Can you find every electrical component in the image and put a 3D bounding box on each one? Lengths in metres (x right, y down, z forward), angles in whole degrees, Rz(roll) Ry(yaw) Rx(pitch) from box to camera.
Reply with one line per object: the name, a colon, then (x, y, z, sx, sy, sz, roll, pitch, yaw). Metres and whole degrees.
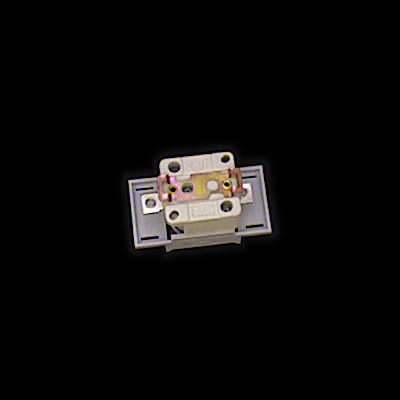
electrical component: (0.000, 0.000, 0.625, 0.081, 0.042, 0.063, -7, -17, -2)
